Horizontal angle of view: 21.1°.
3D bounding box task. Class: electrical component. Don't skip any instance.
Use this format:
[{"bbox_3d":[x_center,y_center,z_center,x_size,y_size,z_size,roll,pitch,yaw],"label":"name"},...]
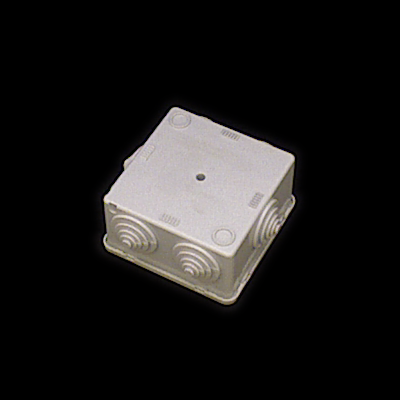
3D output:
[{"bbox_3d":[0.000,0.000,0.632,0.099,0.100,0.049,24,-34,16],"label":"electrical component"}]
